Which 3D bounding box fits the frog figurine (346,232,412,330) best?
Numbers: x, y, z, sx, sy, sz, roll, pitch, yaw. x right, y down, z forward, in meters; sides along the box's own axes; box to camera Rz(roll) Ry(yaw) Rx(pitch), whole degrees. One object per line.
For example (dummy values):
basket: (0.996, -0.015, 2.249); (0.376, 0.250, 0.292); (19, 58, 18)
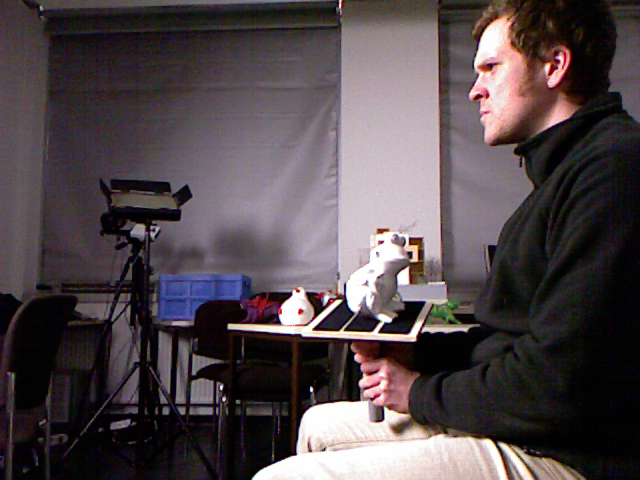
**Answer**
frog figurine: (0.107, 0.066, 0.948); (0.123, 0.158, 0.138); (5, 12, 40)
